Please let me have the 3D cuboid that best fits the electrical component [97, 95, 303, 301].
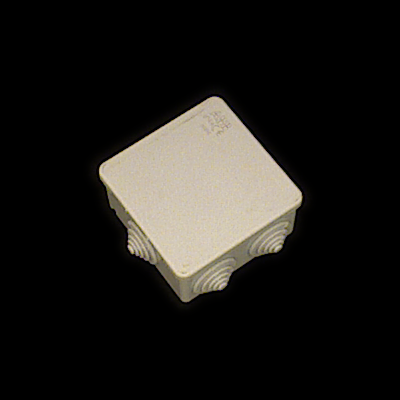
[{"bbox_3d":[0.000,0.000,0.640,0.100,0.099,0.048,-32,-22,-15],"label":"electrical component"}]
